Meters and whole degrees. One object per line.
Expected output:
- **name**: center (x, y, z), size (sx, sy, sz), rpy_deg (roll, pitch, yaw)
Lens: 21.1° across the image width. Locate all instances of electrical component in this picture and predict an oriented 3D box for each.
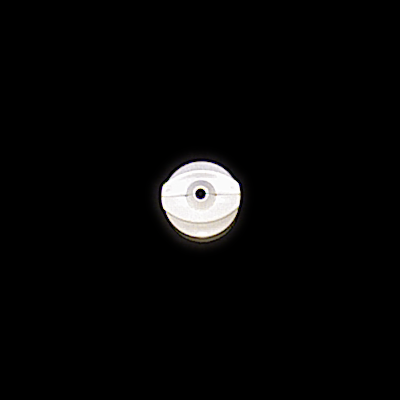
- **electrical component**: center (0.000, 0.000, 0.616), size (0.043, 0.043, 0.080), rpy_deg (0, -6, 1)
